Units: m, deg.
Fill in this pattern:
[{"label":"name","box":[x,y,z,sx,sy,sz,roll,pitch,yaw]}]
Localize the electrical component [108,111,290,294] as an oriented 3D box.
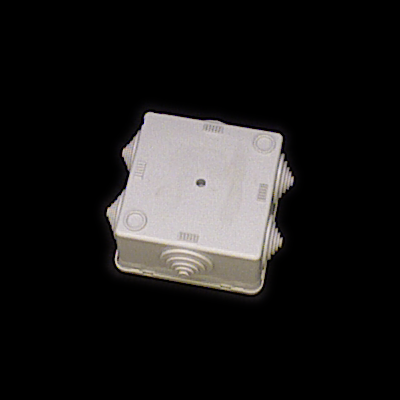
[{"label":"electrical component","box":[0.000,0.000,0.632,0.099,0.100,0.048,10,-27,5]}]
